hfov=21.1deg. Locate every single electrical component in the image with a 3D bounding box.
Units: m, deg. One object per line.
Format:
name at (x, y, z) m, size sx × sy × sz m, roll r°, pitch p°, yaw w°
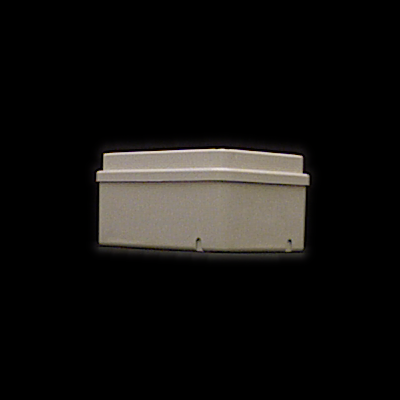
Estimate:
electrical component at (0.000, 0.000, 0.647) m, size 0.078 × 0.057 × 0.112 m, roll 1°, pitch 0°, yaw -44°
